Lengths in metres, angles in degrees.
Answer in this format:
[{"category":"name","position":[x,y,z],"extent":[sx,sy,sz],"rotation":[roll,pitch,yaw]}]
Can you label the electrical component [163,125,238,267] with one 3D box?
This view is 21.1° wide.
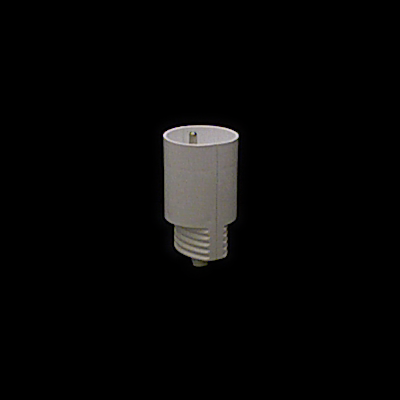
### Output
[{"category":"electrical component","position":[0.000,0.000,0.635],"extent":[0.043,0.082,0.042],"rotation":[1,20,0]}]
